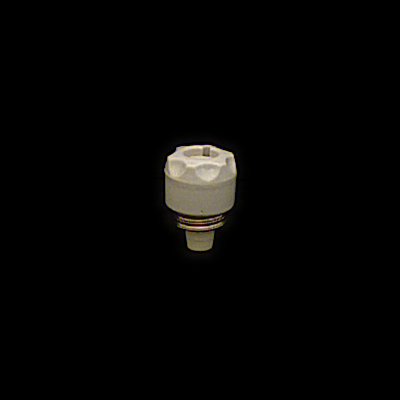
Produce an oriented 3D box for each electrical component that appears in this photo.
[{"bbox_3d":[0.000,0.000,0.645,0.043,0.063,0.043,1,23,0],"label":"electrical component"}]
